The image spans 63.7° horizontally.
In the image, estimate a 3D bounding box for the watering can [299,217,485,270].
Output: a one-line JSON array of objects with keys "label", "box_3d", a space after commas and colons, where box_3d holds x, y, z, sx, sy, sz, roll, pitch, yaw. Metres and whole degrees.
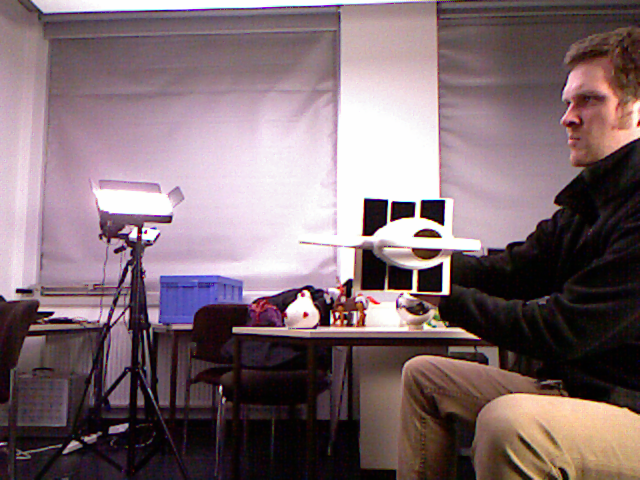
[{"label": "watering can", "box_3d": [0.137, 0.004, 1.015, 0.349, 0.104, 0.225, 2, -1, 0]}]
